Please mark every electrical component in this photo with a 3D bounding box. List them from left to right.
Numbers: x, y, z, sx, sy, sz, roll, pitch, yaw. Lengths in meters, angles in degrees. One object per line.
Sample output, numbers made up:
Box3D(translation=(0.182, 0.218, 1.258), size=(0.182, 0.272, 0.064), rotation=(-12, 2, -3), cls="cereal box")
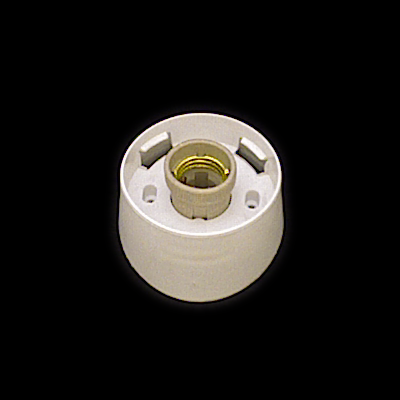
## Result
Box3D(translation=(0.000, 0.000, 0.627), size=(0.099, 0.098, 0.064), rotation=(0, -37, -1), cls="electrical component")
